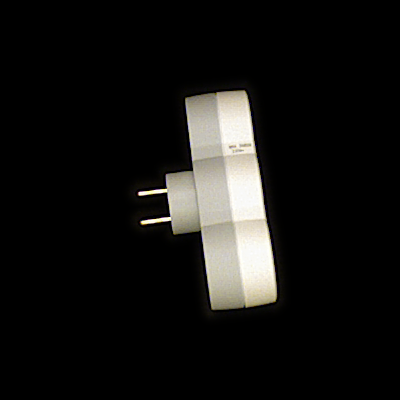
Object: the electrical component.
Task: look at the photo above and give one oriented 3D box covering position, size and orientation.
[{"bbox_3d":[0.000,0.000,0.638,0.074,0.138,0.052,-6,-26,-2],"label":"electrical component"}]
